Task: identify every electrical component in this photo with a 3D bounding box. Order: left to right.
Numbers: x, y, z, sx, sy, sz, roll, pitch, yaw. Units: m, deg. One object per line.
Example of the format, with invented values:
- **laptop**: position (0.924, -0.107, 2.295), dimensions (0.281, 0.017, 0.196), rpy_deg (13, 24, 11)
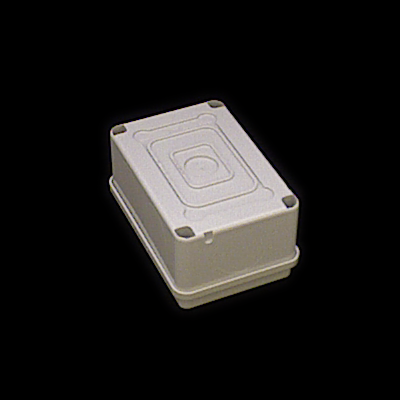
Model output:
- **electrical component**: position (0.000, 0.000, 0.632), dimensions (0.078, 0.057, 0.112), rpy_deg (-16, 44, -18)
